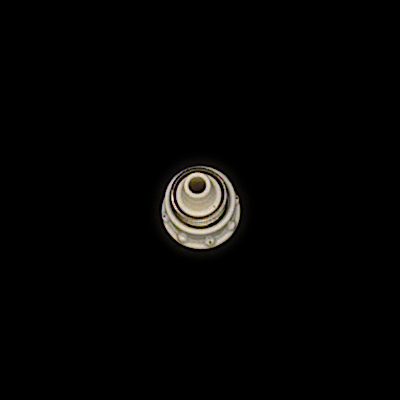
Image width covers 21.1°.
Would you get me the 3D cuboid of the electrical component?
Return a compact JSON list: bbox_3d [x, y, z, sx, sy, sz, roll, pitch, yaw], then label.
[{"bbox_3d":[0.000,0.000,0.633,0.048,0.048,0.061,0,-17,1],"label":"electrical component"}]
